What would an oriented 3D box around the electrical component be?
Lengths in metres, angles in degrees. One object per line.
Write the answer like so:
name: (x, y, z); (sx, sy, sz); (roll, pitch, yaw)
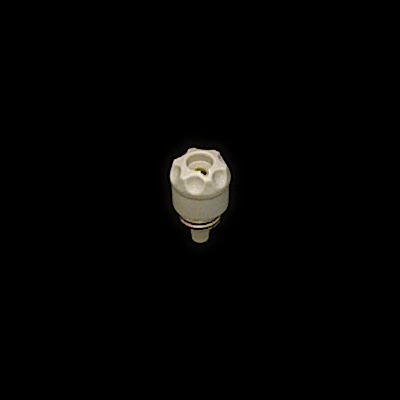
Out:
electrical component: (0.000, 0.000, 0.636); (0.035, 0.062, 0.035); (0, 43, 0)
